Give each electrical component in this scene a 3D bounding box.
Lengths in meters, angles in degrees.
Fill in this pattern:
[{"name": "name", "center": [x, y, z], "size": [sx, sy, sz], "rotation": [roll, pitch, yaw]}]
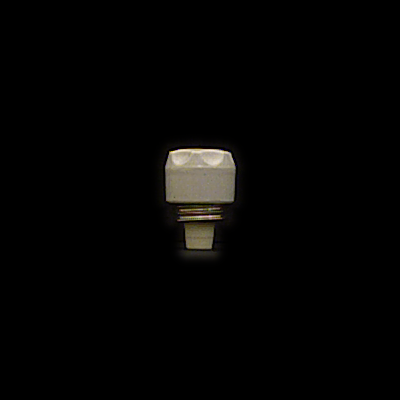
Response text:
[{"name": "electrical component", "center": [0.000, 0.000, 0.656], "size": [0.043, 0.062, 0.043], "rotation": [1, 2, 1]}]
